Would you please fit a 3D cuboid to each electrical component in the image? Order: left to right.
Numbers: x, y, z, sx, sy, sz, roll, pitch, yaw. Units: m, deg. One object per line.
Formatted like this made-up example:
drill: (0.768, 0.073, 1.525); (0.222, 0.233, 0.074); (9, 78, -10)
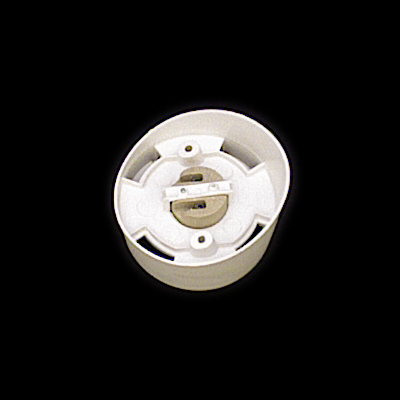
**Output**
electrical component: (0.000, 0.000, 0.625); (0.099, 0.099, 0.064); (0, -28, -1)
